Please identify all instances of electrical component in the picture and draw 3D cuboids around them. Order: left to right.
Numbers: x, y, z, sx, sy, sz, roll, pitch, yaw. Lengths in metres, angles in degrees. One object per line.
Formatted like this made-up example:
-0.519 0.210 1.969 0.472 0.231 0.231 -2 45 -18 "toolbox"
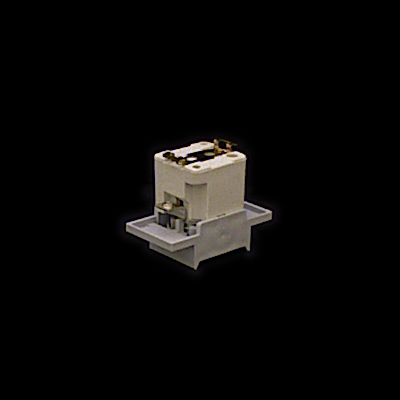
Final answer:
0.000 0.000 0.637 0.080 0.064 0.042 -17 28 -40 "electrical component"
